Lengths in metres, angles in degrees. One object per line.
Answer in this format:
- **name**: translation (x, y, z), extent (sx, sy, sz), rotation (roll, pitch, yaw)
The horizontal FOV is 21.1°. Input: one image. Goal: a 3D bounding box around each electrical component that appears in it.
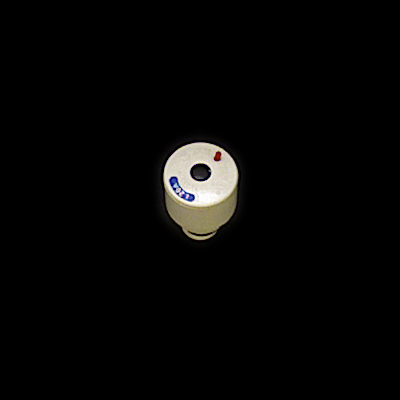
- **electrical component**: translation (0.000, 0.000, 0.619), extent (0.040, 0.040, 0.078), rotation (0, -28, 0)
